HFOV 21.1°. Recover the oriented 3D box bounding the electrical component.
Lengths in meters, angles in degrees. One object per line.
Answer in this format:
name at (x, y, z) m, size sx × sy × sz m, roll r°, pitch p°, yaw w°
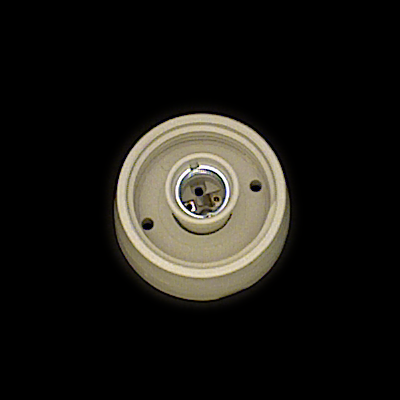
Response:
electrical component at (0.000, 0.000, 0.633) m, size 0.108 × 0.108 × 0.060 m, roll 0°, pitch -16°, yaw 0°
